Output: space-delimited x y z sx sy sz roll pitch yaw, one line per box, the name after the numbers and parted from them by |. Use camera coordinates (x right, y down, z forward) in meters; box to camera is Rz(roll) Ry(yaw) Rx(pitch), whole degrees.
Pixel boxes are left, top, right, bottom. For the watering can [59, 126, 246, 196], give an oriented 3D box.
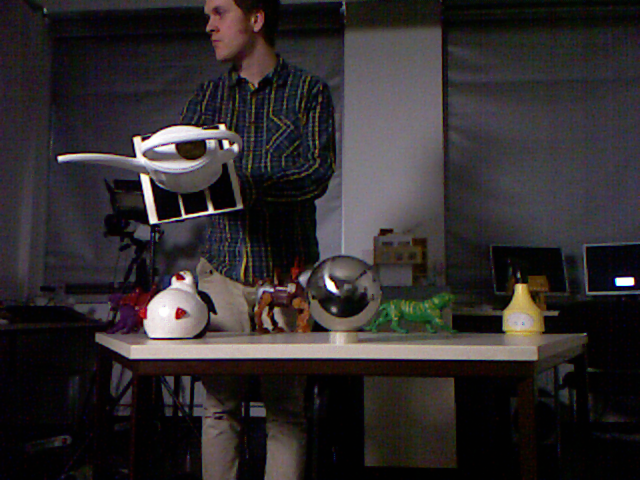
-0.326 -0.163 1.067 0.349 0.105 0.221 -11 -13 -12 | watering can
